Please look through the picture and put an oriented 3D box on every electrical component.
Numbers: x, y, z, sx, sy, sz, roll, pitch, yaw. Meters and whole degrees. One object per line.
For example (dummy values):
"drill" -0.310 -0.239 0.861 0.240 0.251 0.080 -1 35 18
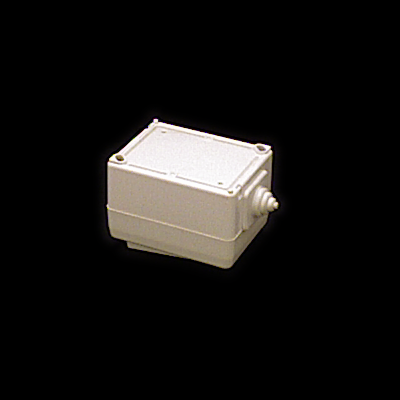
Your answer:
"electrical component" 0.000 0.000 0.632 0.096 0.061 0.061 15 34 20
